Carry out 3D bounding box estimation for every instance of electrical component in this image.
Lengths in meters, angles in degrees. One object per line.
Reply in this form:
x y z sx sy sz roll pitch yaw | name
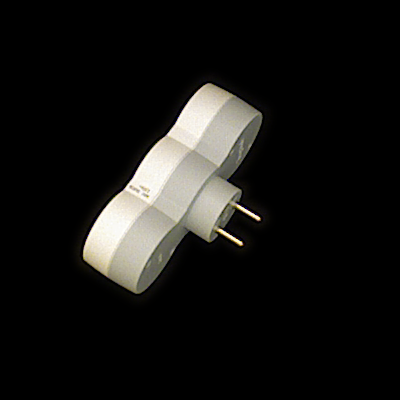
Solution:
0.000 0.000 0.636 0.073 0.139 0.052 31 -23 13 | electrical component
